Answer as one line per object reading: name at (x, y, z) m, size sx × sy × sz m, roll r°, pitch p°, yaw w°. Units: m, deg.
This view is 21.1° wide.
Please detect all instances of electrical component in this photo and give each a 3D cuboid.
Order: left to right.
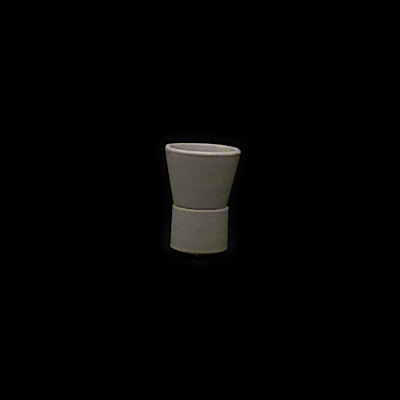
electrical component at (0.000, 0.000, 0.645) m, size 0.044 × 0.066 × 0.044 m, roll 2°, pitch 11°, yaw 0°
